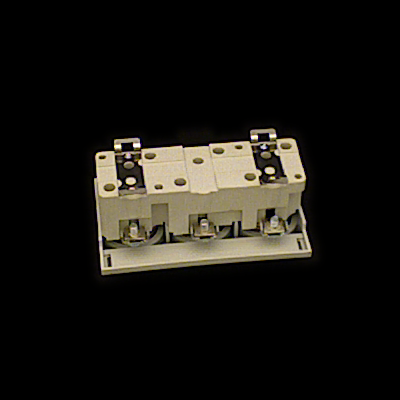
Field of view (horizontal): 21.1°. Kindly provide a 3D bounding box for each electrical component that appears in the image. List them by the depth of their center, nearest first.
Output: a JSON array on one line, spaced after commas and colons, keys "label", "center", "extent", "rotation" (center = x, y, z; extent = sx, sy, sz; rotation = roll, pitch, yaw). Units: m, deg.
[{"label": "electrical component", "center": [0.000, 0.000, 0.635], "extent": [0.122, 0.063, 0.078], "rotation": [-5, 43, -6]}]
